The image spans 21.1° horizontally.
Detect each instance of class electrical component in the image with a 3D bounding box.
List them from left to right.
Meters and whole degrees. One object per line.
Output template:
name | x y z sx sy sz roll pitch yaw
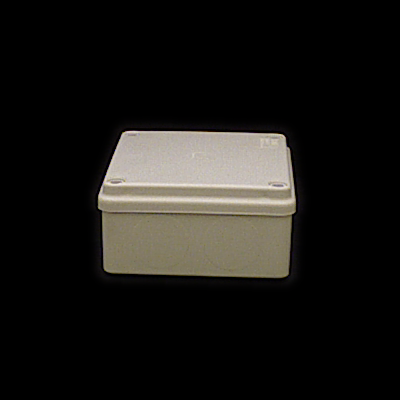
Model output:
electrical component | 0.000 0.000 0.638 0.109 0.057 0.107 1 21 2
